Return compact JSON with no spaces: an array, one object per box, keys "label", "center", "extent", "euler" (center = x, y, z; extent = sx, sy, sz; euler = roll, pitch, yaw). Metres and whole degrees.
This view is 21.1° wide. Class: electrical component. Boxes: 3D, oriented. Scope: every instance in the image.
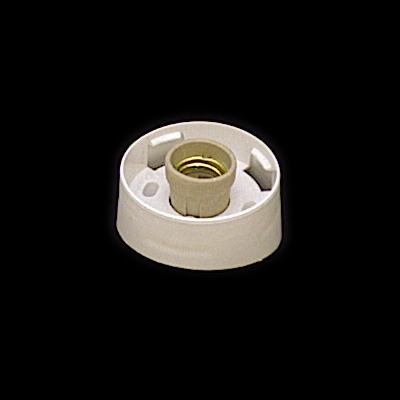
[{"label":"electrical component","center":[0.000,0.000,0.629],"extent":[0.099,0.064,0.098],"euler":[1,41,0]}]
